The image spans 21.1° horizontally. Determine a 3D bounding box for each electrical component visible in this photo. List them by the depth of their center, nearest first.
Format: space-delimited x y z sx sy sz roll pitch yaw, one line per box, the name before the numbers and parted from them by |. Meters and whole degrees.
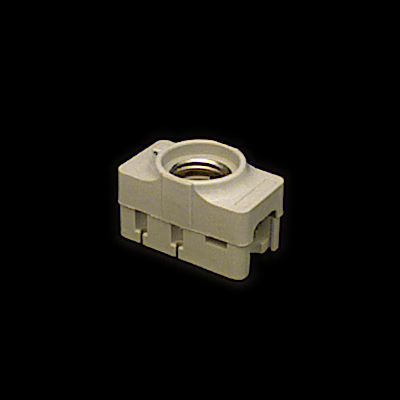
electrical component | 0.000 0.000 0.643 0.088 0.056 0.050 19 37 26
